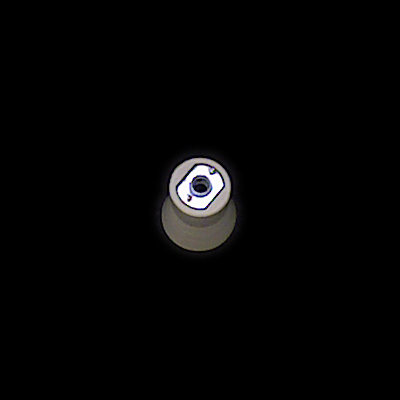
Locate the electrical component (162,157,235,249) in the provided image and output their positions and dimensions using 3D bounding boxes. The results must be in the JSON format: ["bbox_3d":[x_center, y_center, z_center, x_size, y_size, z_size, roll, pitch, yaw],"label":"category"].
[{"bbox_3d":[0.000,0.000,0.624,0.044,0.044,0.065,0,-16,-1],"label":"electrical component"}]
